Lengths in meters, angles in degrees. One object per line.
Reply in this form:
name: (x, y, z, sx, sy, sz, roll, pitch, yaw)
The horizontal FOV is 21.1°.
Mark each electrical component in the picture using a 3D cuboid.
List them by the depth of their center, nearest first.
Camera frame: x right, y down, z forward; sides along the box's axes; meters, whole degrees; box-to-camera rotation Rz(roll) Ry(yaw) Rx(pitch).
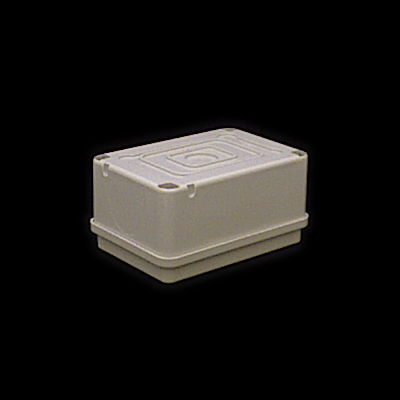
electrical component: (0.000, 0.000, 0.640, 0.113, 0.058, 0.077, -15, 26, -37)
